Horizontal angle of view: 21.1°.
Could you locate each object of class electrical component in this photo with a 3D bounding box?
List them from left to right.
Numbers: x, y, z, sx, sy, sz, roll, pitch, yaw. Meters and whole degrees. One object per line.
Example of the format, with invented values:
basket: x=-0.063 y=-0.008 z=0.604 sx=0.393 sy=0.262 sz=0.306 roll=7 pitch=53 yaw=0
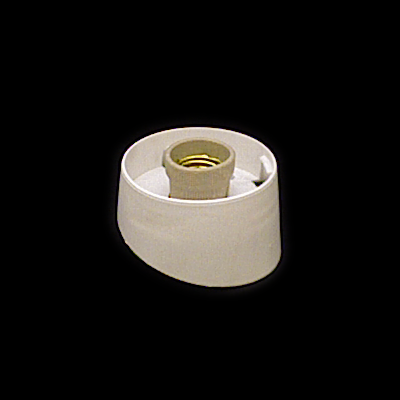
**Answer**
electrical component: x=0.000 y=0.000 z=0.633 sx=0.099 sy=0.065 sz=0.097 roll=1 pitch=31 yaw=0
